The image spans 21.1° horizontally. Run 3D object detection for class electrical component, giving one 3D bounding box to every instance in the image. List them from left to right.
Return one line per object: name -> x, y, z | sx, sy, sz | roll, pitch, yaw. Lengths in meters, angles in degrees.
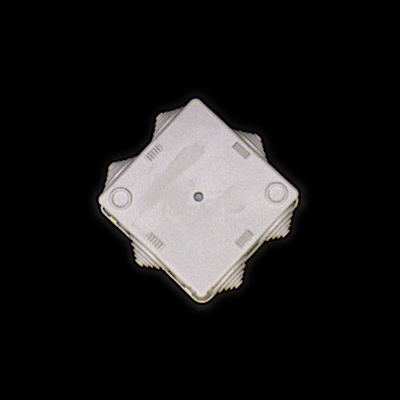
electrical component -> 0.000, 0.000, 0.632 | 0.100, 0.100, 0.048 | 43, -5, 4
